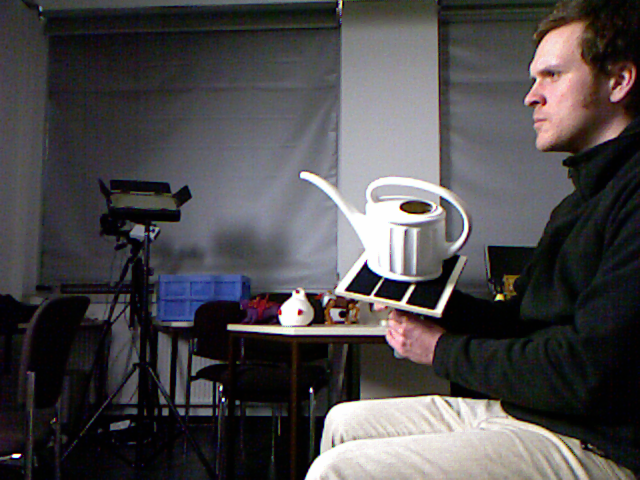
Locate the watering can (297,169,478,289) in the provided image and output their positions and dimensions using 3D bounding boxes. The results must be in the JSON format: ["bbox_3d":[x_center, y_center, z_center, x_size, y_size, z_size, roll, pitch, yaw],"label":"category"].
[{"bbox_3d":[0.121,-0.028,0.991,0.350,0.220,0.106,13,35,22],"label":"watering can"}]
